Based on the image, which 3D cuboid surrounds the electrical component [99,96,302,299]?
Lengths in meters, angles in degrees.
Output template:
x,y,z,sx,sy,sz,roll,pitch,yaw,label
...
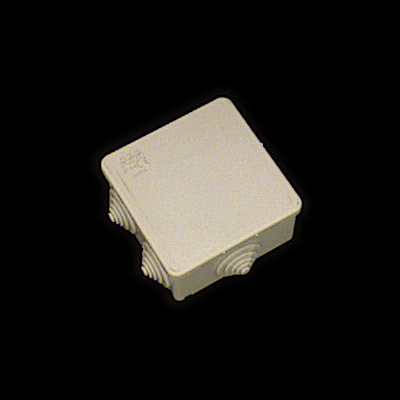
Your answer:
x,y,z,sx,sy,sz,roll,pitch,yaw,label
0.000,0.000,0.639,0.100,0.099,0.048,-28,-23,-13,electrical component
